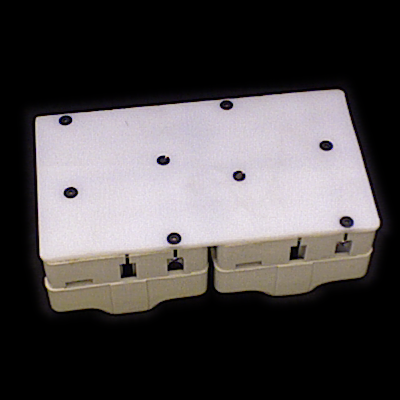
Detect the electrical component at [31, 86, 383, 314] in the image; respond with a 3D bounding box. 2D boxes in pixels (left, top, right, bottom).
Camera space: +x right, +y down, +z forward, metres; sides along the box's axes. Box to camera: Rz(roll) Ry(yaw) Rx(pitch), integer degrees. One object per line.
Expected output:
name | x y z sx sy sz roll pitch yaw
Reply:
electrical component | 0.000 0.000 0.627 0.186 0.105 0.060 -6 -38 -5
